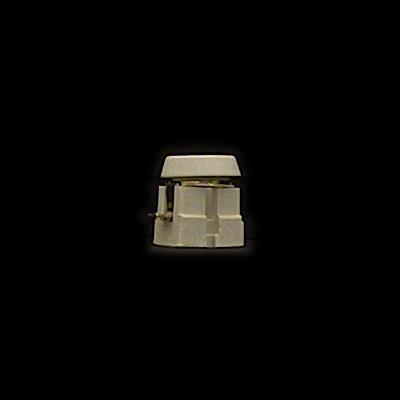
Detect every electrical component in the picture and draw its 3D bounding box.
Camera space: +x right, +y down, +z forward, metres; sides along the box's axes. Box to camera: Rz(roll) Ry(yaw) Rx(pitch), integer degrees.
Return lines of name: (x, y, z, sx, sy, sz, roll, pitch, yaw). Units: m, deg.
electrical component: (0.000, 0.000, 0.655, 0.067, 0.055, 0.048, 1, 0, -30)
